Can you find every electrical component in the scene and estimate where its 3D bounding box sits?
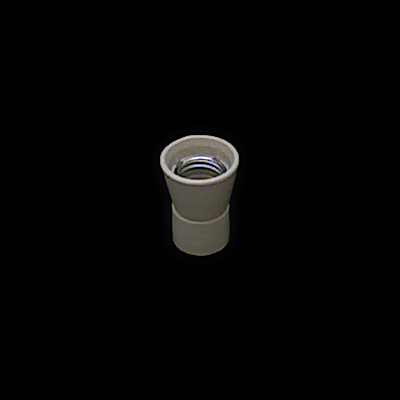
[{"bbox_3d":[0.000,0.000,0.630,0.044,0.066,0.044,0,42,0],"label":"electrical component"}]
